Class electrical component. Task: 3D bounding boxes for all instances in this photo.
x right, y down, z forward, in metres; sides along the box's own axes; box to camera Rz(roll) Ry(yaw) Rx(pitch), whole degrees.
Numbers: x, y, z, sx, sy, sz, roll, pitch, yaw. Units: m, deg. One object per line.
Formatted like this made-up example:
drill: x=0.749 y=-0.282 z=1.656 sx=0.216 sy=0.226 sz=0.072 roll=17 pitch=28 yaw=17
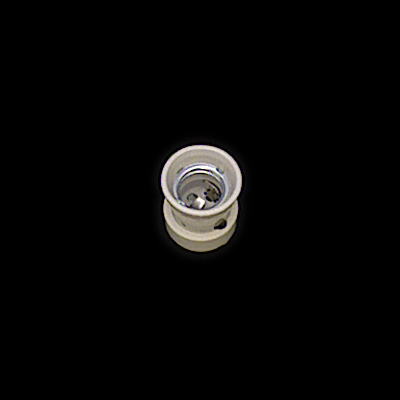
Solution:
electrical component: x=0.000 y=0.000 z=0.629 sx=0.045 sy=0.045 sz=0.055 roll=0 pitch=-27 yaw=-1
